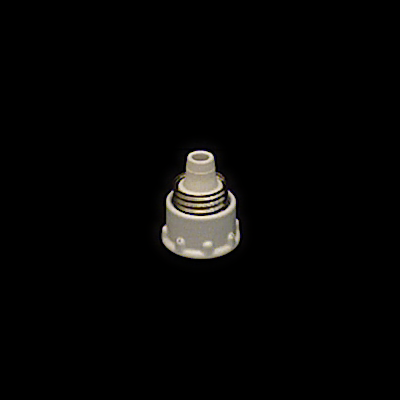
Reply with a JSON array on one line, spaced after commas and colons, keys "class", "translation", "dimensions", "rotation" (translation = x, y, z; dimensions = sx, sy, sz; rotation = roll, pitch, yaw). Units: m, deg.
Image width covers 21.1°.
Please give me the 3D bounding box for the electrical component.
[{"class": "electrical component", "translation": [0.000, 0.000, 0.642], "dimensions": [0.048, 0.063, 0.047], "rotation": [1, 31, 0]}]
